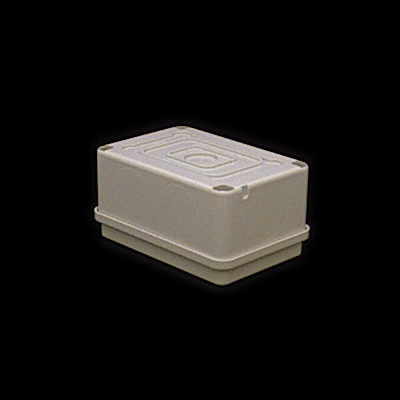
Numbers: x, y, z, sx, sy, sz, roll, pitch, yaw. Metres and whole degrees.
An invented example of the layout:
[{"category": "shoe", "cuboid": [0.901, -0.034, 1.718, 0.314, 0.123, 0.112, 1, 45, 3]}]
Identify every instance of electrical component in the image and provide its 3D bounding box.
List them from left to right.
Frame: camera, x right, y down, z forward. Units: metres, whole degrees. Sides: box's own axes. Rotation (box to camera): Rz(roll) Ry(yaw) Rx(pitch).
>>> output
[{"category": "electrical component", "cuboid": [0.000, 0.000, 0.639, 0.078, 0.058, 0.112, -19, 28, -41]}]
